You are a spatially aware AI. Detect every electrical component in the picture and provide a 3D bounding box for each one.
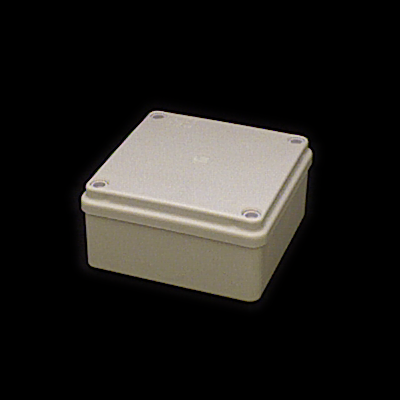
[{"bbox_3d":[0.000,0.000,0.634,0.108,0.057,0.108,11,34,16],"label":"electrical component"}]
